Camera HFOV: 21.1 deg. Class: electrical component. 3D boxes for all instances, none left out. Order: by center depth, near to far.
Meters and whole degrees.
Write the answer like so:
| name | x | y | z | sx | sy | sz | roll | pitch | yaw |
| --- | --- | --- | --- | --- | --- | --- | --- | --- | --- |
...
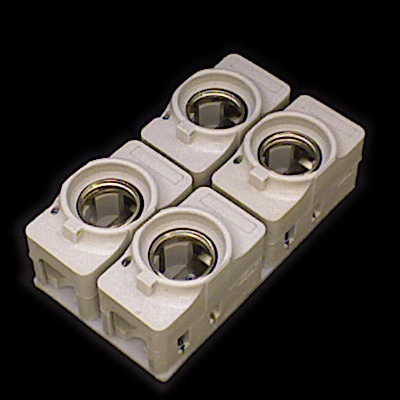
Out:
| name | x | y | z | sx | sy | sz | roll | pitch | yaw |
| --- | --- | --- | --- | --- | --- | --- | --- | --- | --- |
| electrical component | 0.000 | 0.000 | 0.627 | 0.105 | 0.060 | 0.186 | 34 | 60 | 23 |
